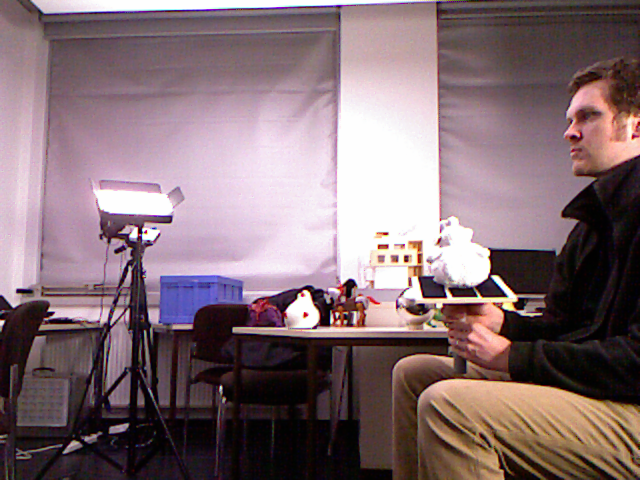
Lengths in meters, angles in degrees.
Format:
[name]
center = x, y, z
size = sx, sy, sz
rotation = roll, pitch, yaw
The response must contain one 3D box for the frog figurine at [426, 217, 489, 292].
[frog figurine]
center = 0.315, 0.031, 1.176
size = 0.137, 0.158, 0.124
rotation = 3, 15, 27
